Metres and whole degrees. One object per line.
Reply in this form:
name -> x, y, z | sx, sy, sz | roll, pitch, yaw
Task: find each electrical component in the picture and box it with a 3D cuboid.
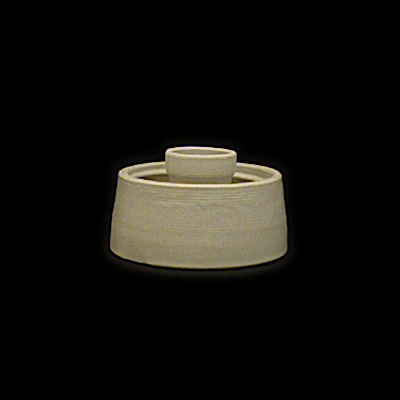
electrical component -> 0.000, 0.000, 0.649 | 0.108, 0.061, 0.107 | 2, 11, 0
